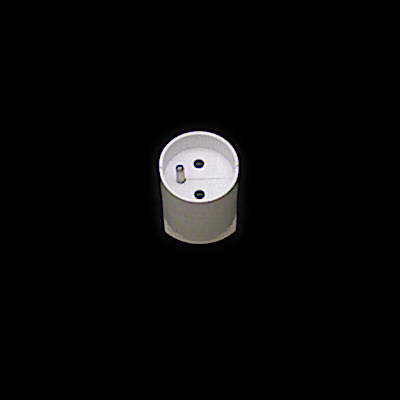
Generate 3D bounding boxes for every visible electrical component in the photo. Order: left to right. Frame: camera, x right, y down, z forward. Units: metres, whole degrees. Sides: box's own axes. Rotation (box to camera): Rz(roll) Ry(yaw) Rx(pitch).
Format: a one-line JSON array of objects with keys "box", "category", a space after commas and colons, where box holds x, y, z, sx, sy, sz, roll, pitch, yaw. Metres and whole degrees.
[{"box": [0.000, 0.000, 0.615, 0.043, 0.043, 0.081, 0, -28, 1], "category": "electrical component"}]
